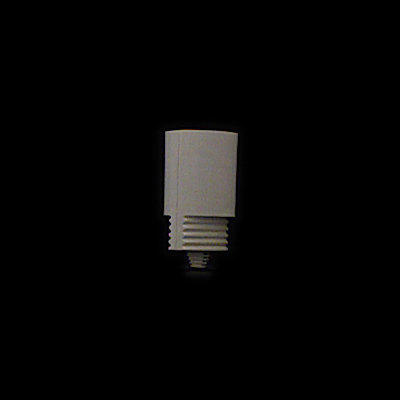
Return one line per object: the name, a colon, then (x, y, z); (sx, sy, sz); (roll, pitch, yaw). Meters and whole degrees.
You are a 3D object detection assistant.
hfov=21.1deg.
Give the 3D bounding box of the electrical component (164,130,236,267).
electrical component: (0.000, 0.000, 0.647); (0.043, 0.081, 0.043); (0, 1, 0)
